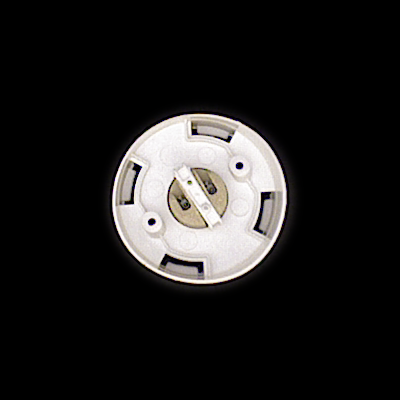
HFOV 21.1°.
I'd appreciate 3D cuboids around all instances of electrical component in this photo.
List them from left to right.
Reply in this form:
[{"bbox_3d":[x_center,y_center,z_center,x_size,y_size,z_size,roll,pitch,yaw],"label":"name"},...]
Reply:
[{"bbox_3d":[0.000,0.000,0.624,0.099,0.099,0.064,0,-6,-1],"label":"electrical component"}]
